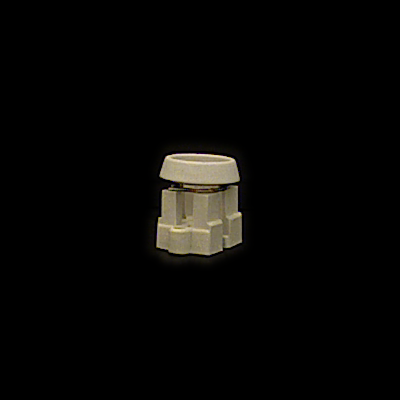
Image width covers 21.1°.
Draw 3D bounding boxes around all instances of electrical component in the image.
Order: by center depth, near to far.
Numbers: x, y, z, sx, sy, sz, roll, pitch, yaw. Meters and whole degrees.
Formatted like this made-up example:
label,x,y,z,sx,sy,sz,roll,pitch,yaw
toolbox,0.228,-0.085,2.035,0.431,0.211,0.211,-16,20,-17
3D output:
label,x,y,z,sx,sy,sz,roll,pitch,yaw
electrical component,0.000,0.000,0.653,0.048,0.056,0.066,9,14,27
